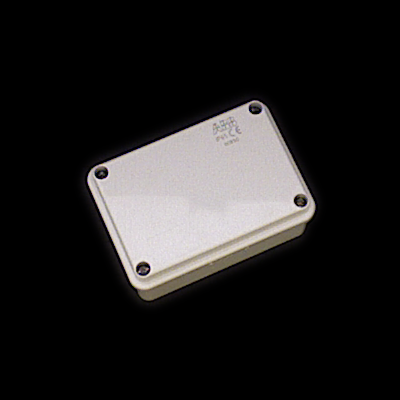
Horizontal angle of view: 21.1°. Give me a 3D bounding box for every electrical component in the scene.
[{"bbox_3d":[0.000,0.000,0.627,0.113,0.078,0.057,-23,-16,-7],"label":"electrical component"}]
